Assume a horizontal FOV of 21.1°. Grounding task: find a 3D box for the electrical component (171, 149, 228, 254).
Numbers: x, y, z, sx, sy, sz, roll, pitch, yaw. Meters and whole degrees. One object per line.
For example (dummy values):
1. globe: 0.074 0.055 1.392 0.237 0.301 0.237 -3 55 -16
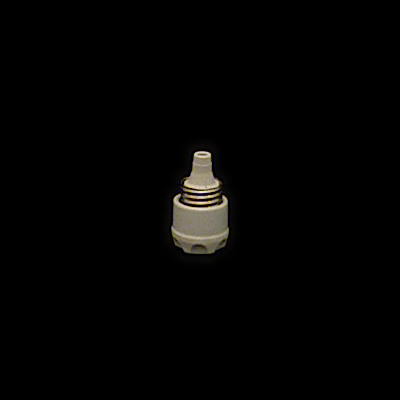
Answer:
1. electrical component: 0.000 0.000 0.653 0.035 0.062 0.034 2 23 0
